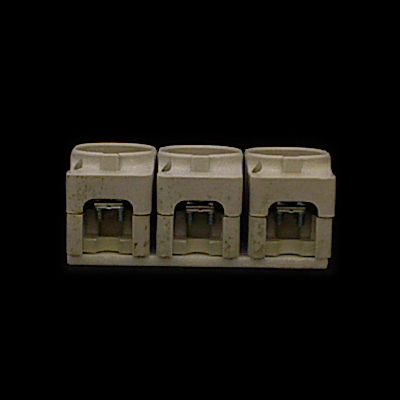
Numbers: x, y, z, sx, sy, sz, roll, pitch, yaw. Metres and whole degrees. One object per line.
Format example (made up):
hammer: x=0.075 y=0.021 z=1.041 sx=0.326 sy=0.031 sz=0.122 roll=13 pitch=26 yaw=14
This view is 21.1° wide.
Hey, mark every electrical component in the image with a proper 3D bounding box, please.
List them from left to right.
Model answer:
electrical component: x=0.000 y=0.000 z=0.649 sx=0.150 sy=0.062 sz=0.088 roll=1 pitch=11 yaw=0
